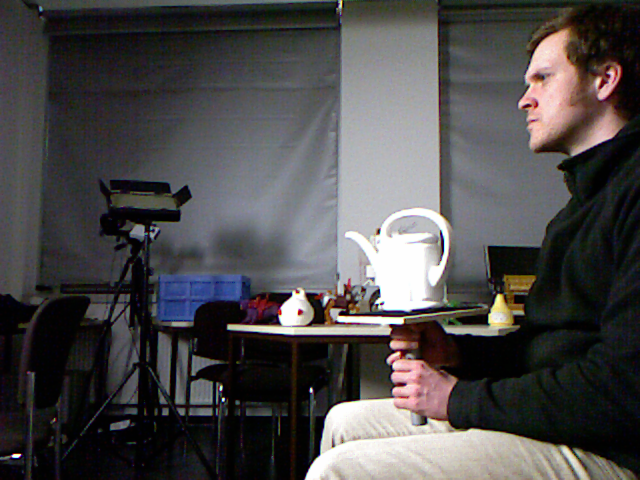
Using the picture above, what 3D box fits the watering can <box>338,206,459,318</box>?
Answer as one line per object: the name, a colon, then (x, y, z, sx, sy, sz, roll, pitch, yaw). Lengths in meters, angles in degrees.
watering can: (0.150, 0.049, 1.032, 0.104, 0.225, 0.346, -3, -3, -31)
